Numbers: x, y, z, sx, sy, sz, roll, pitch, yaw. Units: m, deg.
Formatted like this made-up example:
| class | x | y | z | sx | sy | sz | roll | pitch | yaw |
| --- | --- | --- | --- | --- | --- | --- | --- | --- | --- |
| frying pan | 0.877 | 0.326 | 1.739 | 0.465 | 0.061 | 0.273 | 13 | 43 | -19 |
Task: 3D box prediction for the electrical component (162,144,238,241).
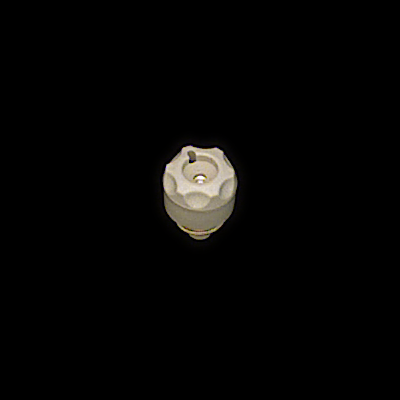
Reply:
| class | x | y | z | sx | sy | sz | roll | pitch | yaw |
| --- | --- | --- | --- | --- | --- | --- | --- | --- | --- |
| electrical component | 0.000 | 0.000 | 0.635 | 0.043 | 0.043 | 0.062 | 0 | -36 | -1 |
